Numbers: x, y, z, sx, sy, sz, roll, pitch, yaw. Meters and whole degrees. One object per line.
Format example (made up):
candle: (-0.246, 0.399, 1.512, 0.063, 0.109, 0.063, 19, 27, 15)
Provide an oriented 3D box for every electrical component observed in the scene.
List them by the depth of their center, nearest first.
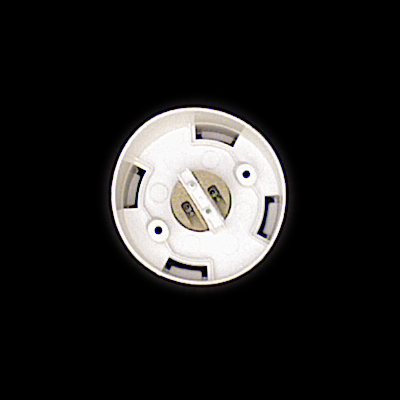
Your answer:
electrical component: (0.000, 0.000, 0.624, 0.099, 0.099, 0.064, 0, -7, 1)
